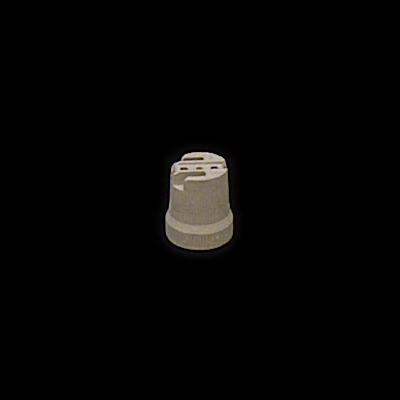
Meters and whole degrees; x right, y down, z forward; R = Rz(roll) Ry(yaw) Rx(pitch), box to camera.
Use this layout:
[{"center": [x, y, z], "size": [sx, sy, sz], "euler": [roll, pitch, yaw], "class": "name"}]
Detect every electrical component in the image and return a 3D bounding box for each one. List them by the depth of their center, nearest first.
[{"center": [0.000, 0.000, 0.639], "size": [0.040, 0.046, 0.040], "euler": [1, 31, 0], "class": "electrical component"}]
